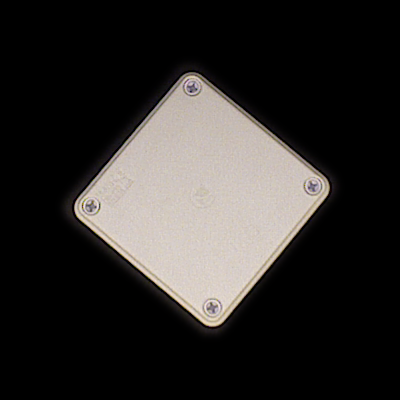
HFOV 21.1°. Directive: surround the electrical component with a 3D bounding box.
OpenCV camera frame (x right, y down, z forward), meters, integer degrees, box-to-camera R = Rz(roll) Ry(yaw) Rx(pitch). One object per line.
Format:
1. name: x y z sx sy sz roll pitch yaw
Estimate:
1. electrical component: 0.000 0.000 0.631 0.109 0.109 0.056 40 -5 4
